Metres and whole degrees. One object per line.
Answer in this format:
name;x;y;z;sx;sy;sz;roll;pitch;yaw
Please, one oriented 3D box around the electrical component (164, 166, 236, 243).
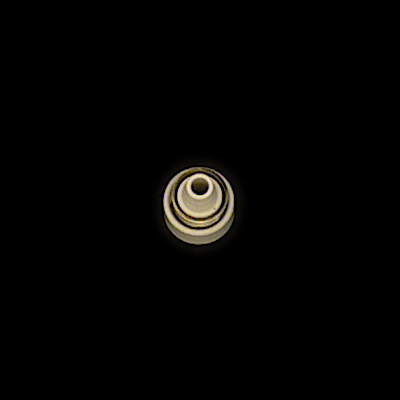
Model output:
electrical component;0.000;0.000;0.634;0.043;0.043;0.061;0;-16;-1
